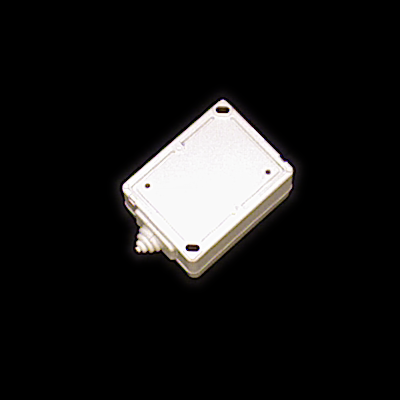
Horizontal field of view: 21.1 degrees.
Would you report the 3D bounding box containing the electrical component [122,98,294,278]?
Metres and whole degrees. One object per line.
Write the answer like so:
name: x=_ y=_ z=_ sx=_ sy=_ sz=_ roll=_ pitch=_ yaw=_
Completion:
electrical component: x=0.000 y=0.000 z=0.628 sx=0.096 sy=0.062 sz=0.060 roll=-42 pitch=-13 yaw=-11
